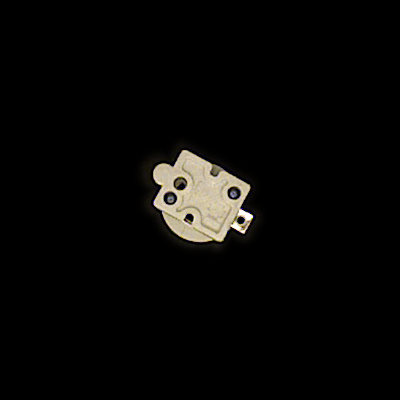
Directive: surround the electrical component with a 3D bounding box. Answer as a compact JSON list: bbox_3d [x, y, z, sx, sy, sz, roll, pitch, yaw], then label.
[{"bbox_3d":[0.000,0.000,0.639,0.066,0.048,0.055,29,-5,2],"label":"electrical component"}]
